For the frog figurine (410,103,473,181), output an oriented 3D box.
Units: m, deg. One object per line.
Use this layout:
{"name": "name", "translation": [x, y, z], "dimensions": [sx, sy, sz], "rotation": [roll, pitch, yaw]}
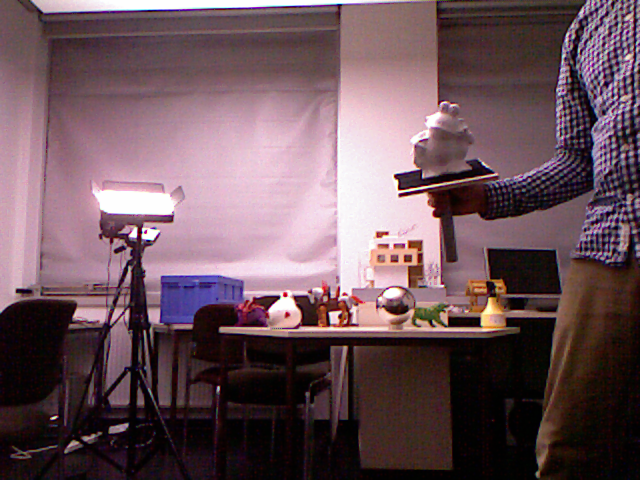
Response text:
{"name": "frog figurine", "translation": [0.265, -0.223, 1.136], "dimensions": [0.137, 0.157, 0.125], "rotation": [-2, 22, 22]}
